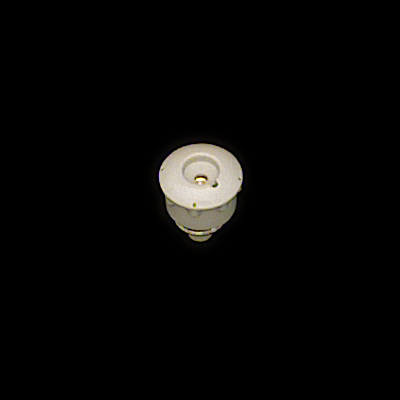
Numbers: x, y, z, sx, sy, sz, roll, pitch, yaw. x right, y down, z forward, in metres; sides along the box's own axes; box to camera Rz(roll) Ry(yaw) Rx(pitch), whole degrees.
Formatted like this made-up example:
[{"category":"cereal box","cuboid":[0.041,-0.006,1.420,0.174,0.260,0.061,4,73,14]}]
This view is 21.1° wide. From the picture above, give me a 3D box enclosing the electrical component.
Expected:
[{"category":"electrical component","cuboid":[0.000,0.000,0.636,0.048,0.048,0.062,0,-37,0]}]
